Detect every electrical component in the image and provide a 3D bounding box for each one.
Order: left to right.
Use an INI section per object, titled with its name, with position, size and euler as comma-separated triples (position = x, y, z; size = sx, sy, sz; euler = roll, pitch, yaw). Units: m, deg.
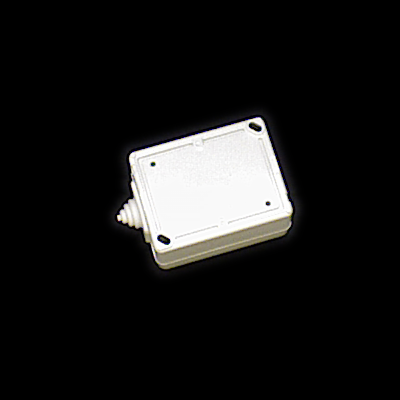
[electrical component]
position = 0.000, 0.000, 0.624
size = 0.096, 0.062, 0.060
euler = -16, -16, -5
